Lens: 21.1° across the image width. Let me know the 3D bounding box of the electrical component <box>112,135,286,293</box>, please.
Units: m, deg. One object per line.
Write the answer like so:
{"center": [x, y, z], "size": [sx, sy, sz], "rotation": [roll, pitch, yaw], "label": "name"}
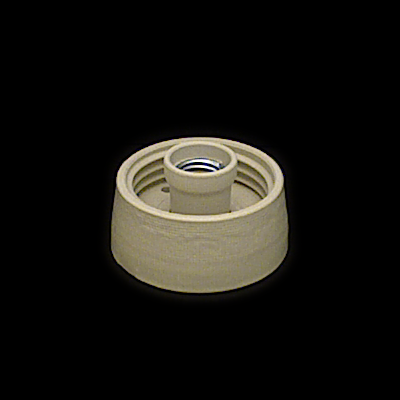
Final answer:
{"center": [0.000, 0.000, 0.640], "size": [0.108, 0.061, 0.106], "rotation": [1, 32, 0], "label": "electrical component"}
